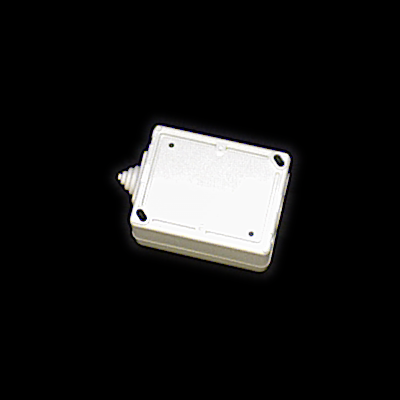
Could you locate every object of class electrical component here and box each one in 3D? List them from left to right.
[{"bbox_3d":[0.000,-0.001,0.626,0.096,0.062,0.060,13,-16,4],"label":"electrical component"}]
